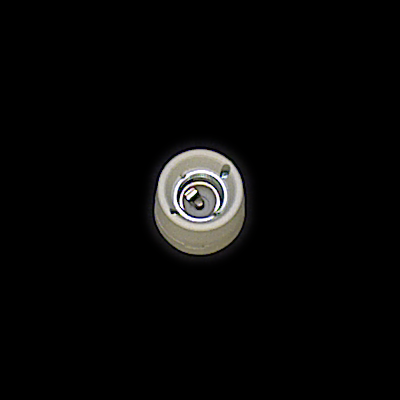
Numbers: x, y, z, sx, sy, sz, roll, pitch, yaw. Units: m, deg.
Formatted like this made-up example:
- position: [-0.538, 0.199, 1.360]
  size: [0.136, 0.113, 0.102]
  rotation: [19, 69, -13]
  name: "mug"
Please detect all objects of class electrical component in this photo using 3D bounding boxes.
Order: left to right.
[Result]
- position: [0.000, 0.000, 0.633]
  size: [0.055, 0.056, 0.047]
  rotation: [0, -17, -1]
  name: "electrical component"
